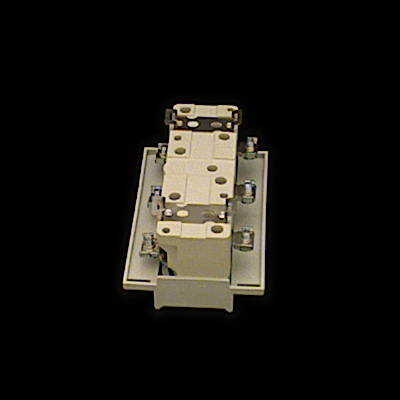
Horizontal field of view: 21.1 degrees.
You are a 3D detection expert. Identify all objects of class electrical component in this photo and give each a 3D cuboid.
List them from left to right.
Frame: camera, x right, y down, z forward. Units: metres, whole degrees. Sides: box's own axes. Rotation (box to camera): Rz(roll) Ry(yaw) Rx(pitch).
[{"bbox_3d":[0.000,0.000,0.637,0.079,0.063,0.120,2,42,2],"label":"electrical component"}]
